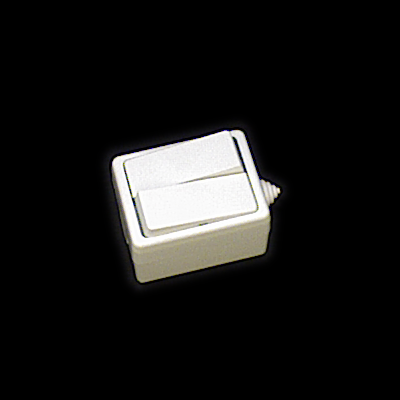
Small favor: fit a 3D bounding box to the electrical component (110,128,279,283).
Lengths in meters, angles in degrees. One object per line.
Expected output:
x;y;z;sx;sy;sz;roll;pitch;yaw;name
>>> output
0.000;0.000;0.627;0.096;0.062;0.061;-13;-27;-7;electrical component
